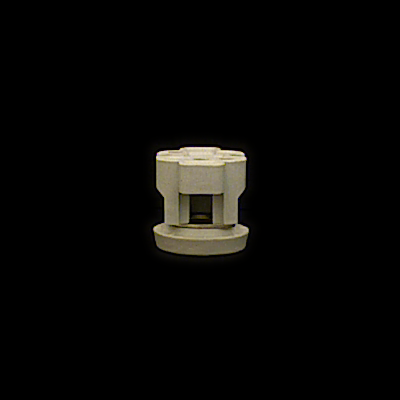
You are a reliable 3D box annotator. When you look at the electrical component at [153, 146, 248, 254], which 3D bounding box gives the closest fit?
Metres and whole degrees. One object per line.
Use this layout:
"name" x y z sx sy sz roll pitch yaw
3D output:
"electrical component" 0.000 0.000 0.653 0.058 0.057 0.078 0 10 -2
